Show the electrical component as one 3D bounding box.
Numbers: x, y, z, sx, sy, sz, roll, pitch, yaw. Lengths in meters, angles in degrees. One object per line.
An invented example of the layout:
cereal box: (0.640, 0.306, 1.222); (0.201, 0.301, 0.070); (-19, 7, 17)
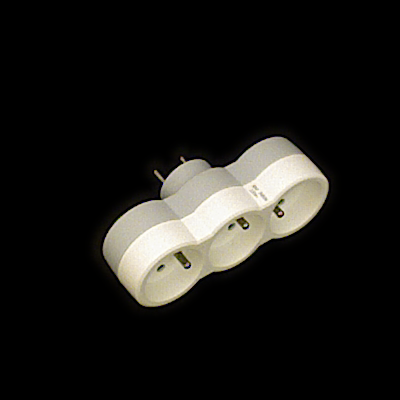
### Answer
electrical component: (0.000, 0.000, 0.641); (0.139, 0.073, 0.052); (-28, -34, -20)
